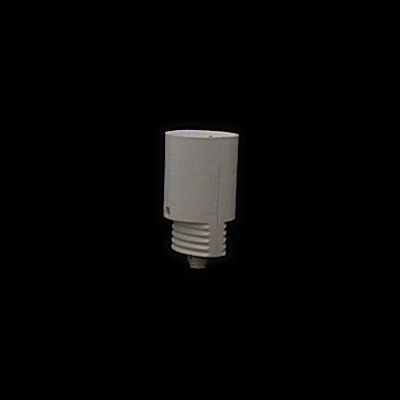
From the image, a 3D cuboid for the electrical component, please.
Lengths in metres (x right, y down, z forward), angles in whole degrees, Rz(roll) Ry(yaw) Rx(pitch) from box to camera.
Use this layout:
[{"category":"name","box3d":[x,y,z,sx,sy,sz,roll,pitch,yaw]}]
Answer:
[{"category":"electrical component","box3d":[0.000,0.000,0.642,0.043,0.082,0.042,1,12,0]}]
